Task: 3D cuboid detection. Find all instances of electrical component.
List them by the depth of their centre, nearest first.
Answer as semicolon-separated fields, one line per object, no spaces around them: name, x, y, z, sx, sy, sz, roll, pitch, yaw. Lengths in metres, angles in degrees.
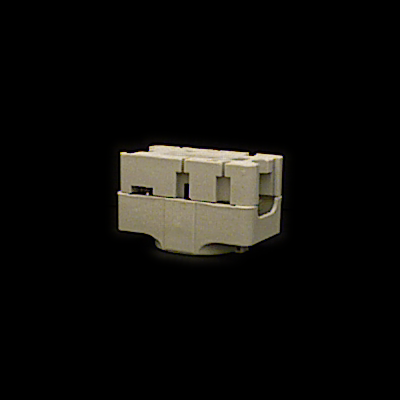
electrical component;0.000;0.000;0.652;0.089;0.056;0.050;7;13;25
